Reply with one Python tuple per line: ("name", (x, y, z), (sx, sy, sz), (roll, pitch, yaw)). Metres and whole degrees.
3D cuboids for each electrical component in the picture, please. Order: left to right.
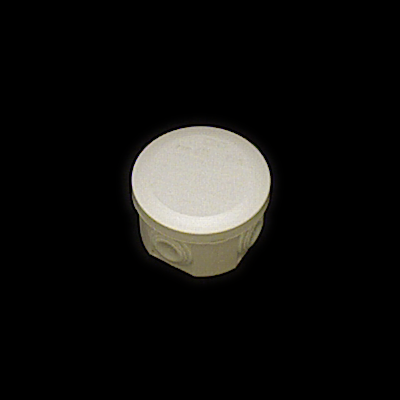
("electrical component", (0.000, 0.000, 0.631), (0.080, 0.080, 0.051), (0, -38, 0))
